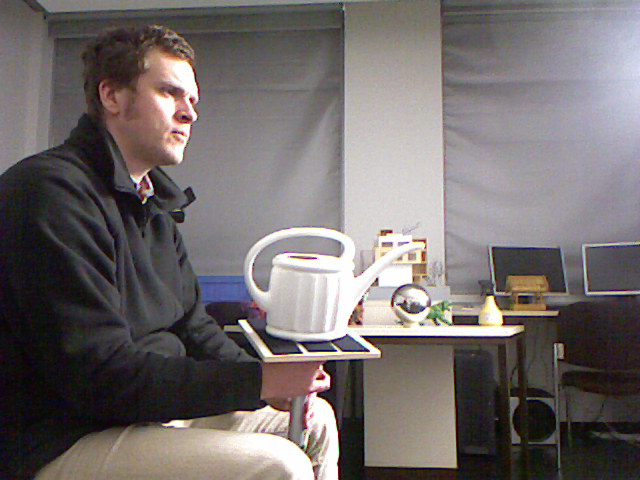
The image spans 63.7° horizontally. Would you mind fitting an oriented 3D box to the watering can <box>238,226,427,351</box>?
[{"bbox_3d":[0.026,0.087,0.917,0.348,0.222,0.105,3,12,-18],"label":"watering can"}]
